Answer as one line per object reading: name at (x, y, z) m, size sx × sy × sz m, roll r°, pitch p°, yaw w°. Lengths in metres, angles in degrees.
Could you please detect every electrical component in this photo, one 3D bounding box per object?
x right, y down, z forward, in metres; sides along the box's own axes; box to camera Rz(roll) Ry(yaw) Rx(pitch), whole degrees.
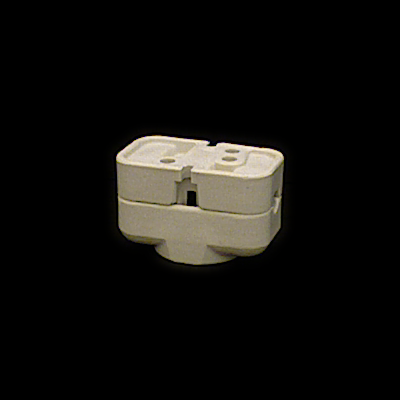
electrical component at (0.000, 0.000, 0.648) m, size 0.094 × 0.060 × 0.053 m, roll 7°, pitch 23°, yaw 16°
